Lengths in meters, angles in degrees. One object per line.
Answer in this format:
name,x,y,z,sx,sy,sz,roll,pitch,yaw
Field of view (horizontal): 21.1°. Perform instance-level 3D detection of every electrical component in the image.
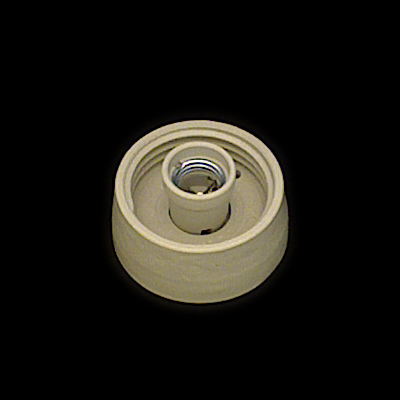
electrical component,0.000,0.000,0.635,0.108,0.107,0.060,0,-37,0
